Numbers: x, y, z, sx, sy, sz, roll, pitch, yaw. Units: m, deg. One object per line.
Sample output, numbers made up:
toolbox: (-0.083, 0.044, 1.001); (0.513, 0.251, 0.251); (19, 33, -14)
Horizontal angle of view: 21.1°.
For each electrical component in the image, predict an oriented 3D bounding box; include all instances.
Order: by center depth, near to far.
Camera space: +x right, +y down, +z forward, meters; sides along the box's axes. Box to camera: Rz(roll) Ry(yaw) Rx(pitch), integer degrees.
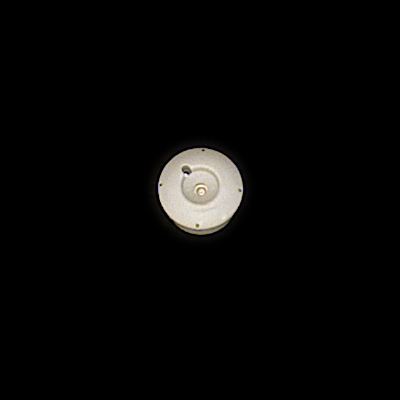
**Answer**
electrical component: (0.000, 0.000, 0.633); (0.048, 0.048, 0.061); (0, -16, 1)
